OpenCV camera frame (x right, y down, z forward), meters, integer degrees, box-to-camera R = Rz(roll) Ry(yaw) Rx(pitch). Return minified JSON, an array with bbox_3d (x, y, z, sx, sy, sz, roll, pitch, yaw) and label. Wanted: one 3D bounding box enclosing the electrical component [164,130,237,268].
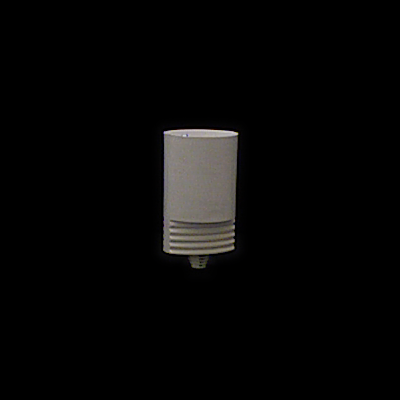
[{"bbox_3d":[0.000,0.000,0.639,0.043,0.081,0.043,0,11,0],"label":"electrical component"}]
